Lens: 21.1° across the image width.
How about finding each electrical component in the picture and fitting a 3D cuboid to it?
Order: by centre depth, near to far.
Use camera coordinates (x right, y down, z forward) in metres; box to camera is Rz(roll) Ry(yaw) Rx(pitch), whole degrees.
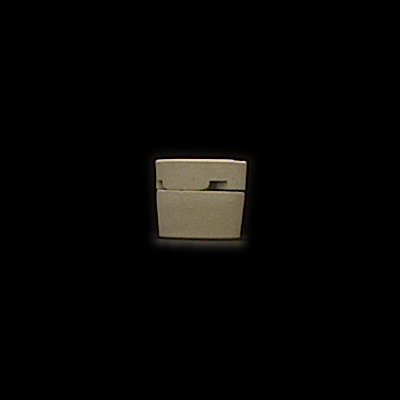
[{"bbox_3d":[0.000,0.000,0.650,0.055,0.047,0.055,2,0,0],"label":"electrical component"}]
